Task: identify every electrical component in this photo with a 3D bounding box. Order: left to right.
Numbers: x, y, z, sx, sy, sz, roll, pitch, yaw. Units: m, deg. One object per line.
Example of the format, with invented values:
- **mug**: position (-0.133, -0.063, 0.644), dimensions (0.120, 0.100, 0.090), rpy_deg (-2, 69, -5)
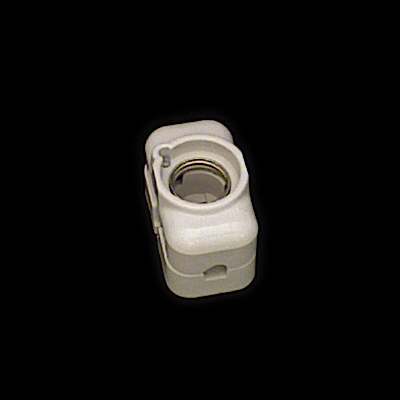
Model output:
- **electrical component**: position (0.000, 0.000, 0.635), dimensions (0.054, 0.094, 0.059), rpy_deg (-10, -36, -8)
